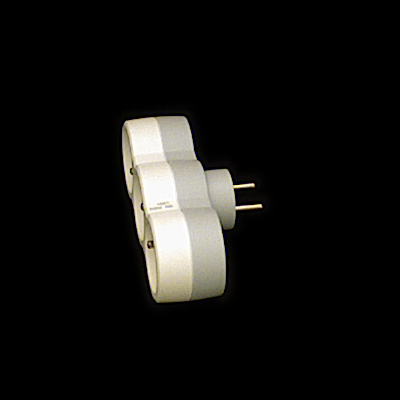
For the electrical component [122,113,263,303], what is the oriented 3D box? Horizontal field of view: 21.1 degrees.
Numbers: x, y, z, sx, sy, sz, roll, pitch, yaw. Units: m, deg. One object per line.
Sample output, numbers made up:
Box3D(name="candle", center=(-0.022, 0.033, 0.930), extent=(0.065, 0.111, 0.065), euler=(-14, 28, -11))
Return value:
Box3D(name="electrical component", center=(0.000, 0.000, 0.640), extent=(0.074, 0.052, 0.136), euler=(-6, 43, -10))
